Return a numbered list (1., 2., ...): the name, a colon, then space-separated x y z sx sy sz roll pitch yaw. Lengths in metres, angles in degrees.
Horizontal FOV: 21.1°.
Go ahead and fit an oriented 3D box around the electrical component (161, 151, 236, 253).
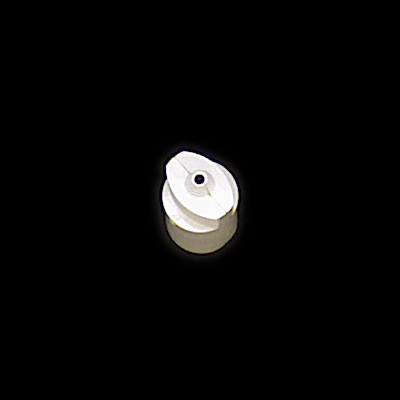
1. electrical component: 0.000 0.000 0.616 0.043 0.043 0.080 0 -17 1
